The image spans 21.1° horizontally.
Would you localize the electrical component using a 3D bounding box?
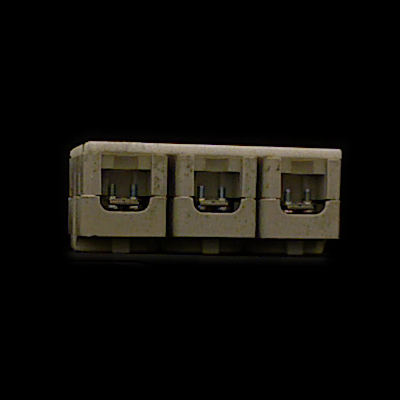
[{"bbox_3d":[0.000,0.000,0.653,0.150,0.062,0.089,1,-1,-13],"label":"electrical component"}]
